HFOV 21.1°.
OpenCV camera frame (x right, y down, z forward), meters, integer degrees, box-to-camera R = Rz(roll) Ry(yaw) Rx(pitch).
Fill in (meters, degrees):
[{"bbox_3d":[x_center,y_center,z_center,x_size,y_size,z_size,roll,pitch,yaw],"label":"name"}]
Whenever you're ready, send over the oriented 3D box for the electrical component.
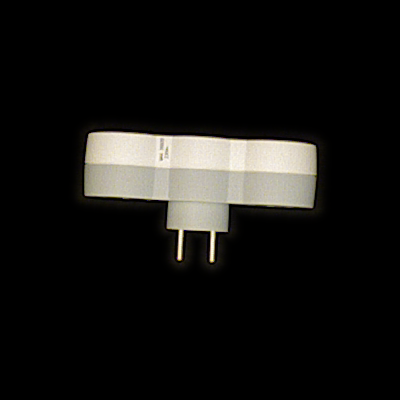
[{"bbox_3d":[0.000,0.000,0.639,0.138,0.074,0.052,3,-4,0],"label":"electrical component"}]
